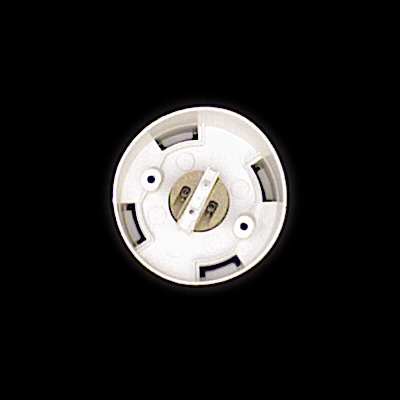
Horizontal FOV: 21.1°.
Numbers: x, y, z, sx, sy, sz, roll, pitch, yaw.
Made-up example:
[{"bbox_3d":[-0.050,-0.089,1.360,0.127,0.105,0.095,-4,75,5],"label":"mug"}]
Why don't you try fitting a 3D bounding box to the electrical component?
[{"bbox_3d":[0.000,0.000,0.624,0.099,0.099,0.064,0,-8,0],"label":"electrical component"}]
